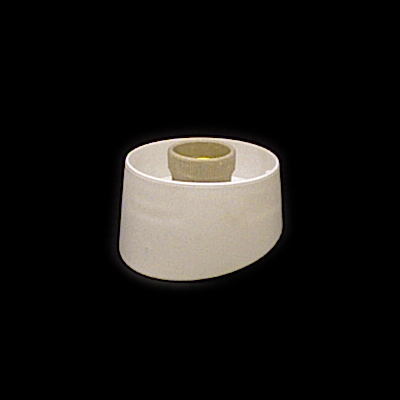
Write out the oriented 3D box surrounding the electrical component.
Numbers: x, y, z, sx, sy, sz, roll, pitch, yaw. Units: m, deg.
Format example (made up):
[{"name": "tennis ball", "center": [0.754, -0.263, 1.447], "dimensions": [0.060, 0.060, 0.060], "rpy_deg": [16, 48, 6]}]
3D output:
[{"name": "electrical component", "center": [0.000, 0.000, 0.639], "dimensions": [0.099, 0.065, 0.097], "rpy_deg": [1, 21, 0]}]
